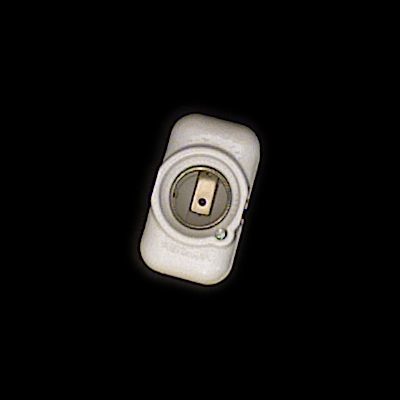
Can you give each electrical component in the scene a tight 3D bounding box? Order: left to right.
[{"bbox_3d":[0.000,0.000,0.635,0.054,0.095,0.059,14,-5,3],"label":"electrical component"}]
